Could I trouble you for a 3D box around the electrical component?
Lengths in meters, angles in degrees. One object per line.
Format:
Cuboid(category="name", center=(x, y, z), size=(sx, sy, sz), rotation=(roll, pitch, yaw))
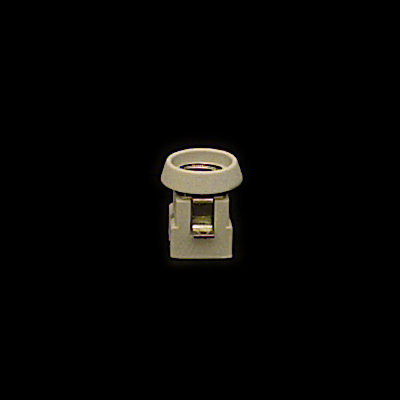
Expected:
Cuboid(category="electrical component", center=(0.000, 0.000, 0.646), size=(0.048, 0.056, 0.065), rotation=(-3, 22, -4))
